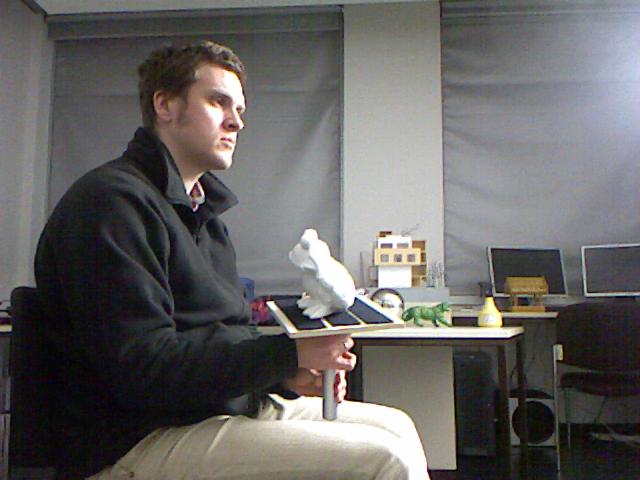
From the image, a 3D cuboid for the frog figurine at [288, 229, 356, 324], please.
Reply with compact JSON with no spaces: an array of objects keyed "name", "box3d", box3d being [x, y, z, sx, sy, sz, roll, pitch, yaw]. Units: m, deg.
[{"name":"frog figurine","box3d":[0.004,0.057,0.921,0.123,0.158,0.139,2,10,3]}]
